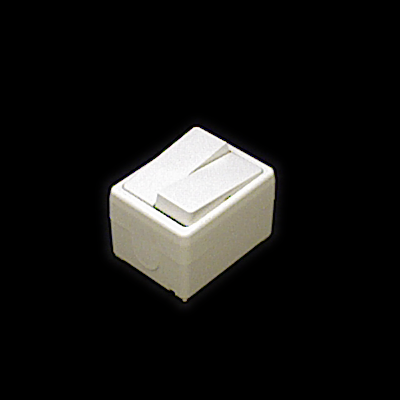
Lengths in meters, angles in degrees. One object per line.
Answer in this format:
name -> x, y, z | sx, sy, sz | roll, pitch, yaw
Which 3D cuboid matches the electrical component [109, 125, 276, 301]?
electrical component -> 0.000, 0.000, 0.632 | 0.061, 0.061, 0.096 | 32, 50, 30
